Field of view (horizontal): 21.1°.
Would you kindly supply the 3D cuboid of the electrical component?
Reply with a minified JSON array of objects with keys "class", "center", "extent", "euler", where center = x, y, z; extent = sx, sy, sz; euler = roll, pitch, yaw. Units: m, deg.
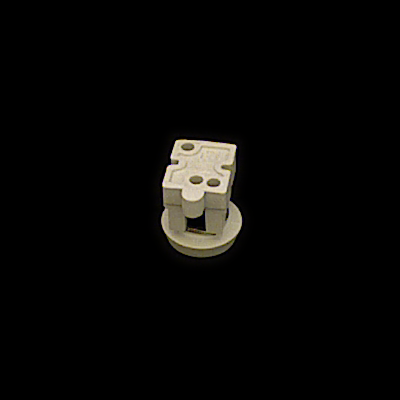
[{"class":"electrical component","center":[0.000,0.000,0.640],"extent":[0.048,0.056,0.066],"euler":[6,42,8]}]
